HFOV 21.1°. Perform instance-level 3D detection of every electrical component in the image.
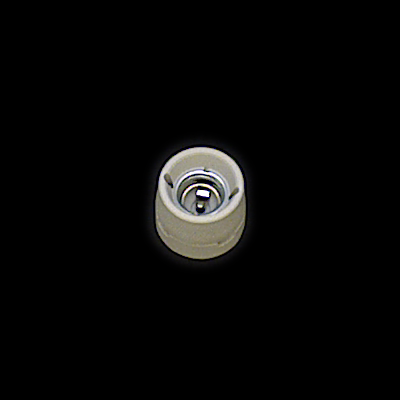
[{"bbox_3d":[0.000,0.000,0.632,0.055,0.056,0.047,0,-27,-1],"label":"electrical component"}]
